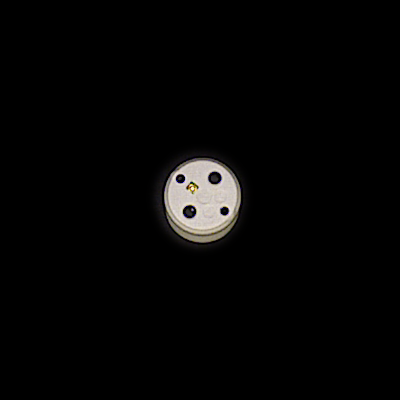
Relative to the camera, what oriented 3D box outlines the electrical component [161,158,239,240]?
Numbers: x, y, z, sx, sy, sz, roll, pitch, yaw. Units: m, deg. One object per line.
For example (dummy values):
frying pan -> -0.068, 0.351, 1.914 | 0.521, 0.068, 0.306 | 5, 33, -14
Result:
electrical component -> 0.000, 0.000, 0.629 | 0.045, 0.045, 0.055 | 0, -6, 0
